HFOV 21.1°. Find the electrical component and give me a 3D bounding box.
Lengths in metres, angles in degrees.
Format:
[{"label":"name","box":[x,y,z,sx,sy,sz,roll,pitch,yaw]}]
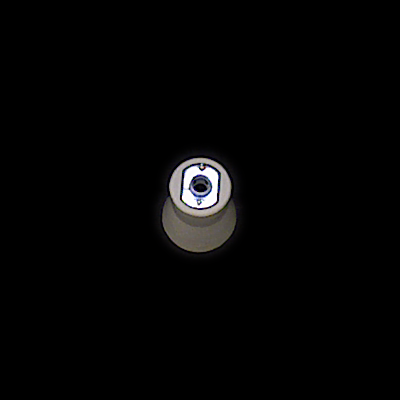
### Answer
[{"label":"electrical component","box":[0.000,0.000,0.624,0.044,0.044,0.065,0,-17,-1]}]
